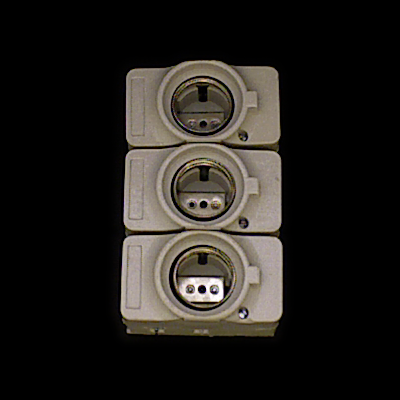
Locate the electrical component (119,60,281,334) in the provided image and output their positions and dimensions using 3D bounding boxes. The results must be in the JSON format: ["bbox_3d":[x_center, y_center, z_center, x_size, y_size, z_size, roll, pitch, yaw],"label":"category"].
[{"bbox_3d":[0.000,0.000,0.631,0.089,0.150,0.062,0,-16,0],"label":"electrical component"}]
